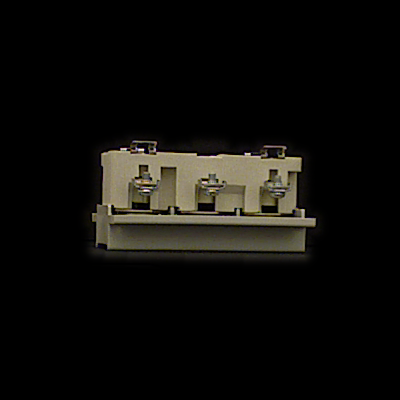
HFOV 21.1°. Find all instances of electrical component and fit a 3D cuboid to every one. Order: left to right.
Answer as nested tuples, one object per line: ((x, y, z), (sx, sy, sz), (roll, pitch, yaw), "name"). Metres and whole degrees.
((0.000, 0.000, 0.659), (0.122, 0.063, 0.078), (2, 0, -15), "electrical component")
